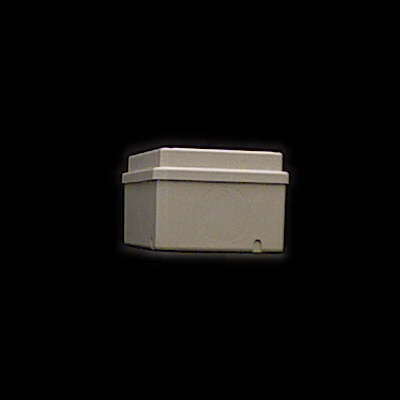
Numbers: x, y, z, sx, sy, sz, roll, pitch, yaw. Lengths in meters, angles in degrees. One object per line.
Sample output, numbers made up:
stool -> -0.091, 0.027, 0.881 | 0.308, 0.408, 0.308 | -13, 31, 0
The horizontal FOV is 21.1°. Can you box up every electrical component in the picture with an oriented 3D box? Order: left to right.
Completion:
electrical component -> 0.000, 0.000, 0.648 | 0.078, 0.057, 0.113 | 1, 0, -14
